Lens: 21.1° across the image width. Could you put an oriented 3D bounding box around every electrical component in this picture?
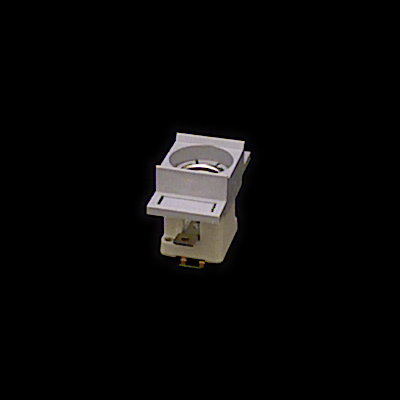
[{"bbox_3d":[0.000,0.000,0.630,0.042,0.064,0.080,10,32,12],"label":"electrical component"}]
